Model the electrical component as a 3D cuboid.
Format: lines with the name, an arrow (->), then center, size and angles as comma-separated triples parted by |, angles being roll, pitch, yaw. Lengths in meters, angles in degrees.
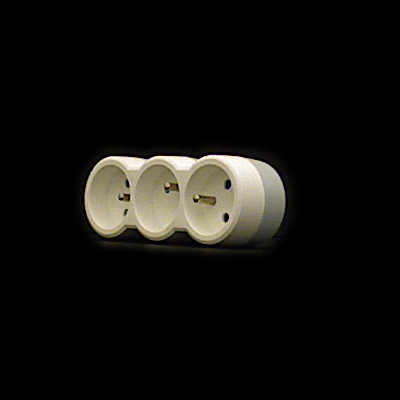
electrical component -> 0.000, 0.000, 0.658 | 0.137, 0.052, 0.074 | 2, 0, 45
